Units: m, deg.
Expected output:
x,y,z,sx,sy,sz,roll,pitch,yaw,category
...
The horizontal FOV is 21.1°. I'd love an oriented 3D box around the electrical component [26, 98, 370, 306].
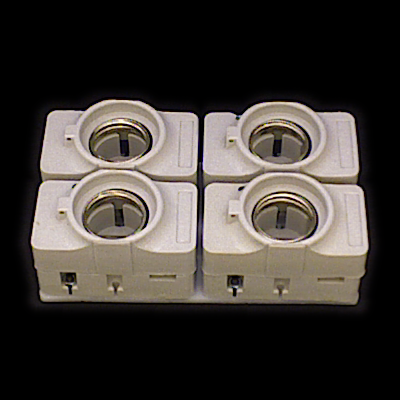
x,y,z,sx,sy,sz,roll,pitch,yaw,category
0.000,0.000,0.627,0.186,0.105,0.060,1,-38,0,electrical component
